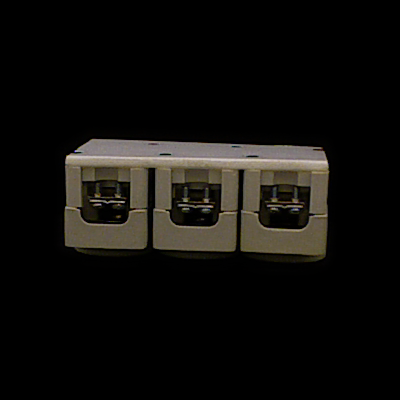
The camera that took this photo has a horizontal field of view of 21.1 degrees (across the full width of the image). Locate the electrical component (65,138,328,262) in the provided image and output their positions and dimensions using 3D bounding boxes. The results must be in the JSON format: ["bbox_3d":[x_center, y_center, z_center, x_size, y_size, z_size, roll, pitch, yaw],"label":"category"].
[{"bbox_3d":[0.000,0.000,0.653,0.150,0.062,0.088,2,11,4],"label":"electrical component"}]
